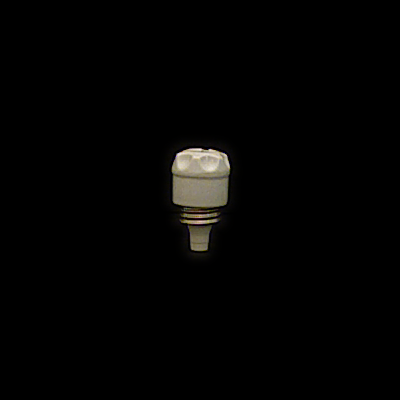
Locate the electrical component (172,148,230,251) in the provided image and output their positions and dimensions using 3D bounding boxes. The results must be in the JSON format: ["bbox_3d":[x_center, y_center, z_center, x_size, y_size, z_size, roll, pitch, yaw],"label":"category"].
[{"bbox_3d":[0.000,0.000,0.653,0.035,0.062,0.035,1,12,0],"label":"electrical component"}]
